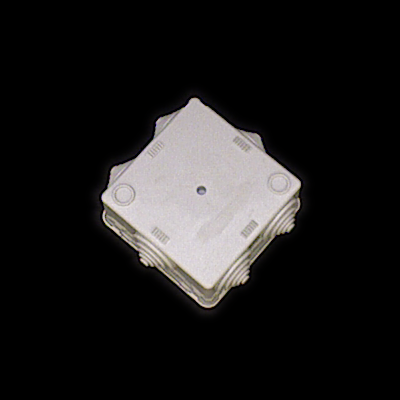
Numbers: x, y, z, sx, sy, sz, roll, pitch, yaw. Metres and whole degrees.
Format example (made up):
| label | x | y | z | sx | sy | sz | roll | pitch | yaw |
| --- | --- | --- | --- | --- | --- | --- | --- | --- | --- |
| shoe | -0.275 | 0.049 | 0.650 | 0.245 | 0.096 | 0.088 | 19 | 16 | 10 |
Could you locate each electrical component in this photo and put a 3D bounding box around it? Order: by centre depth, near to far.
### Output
| label | x | y | z | sx | sy | sz | roll | pitch | yaw |
| --- | --- | --- | --- | --- | --- | --- | --- | --- | --- |
| electrical component | 0.000 | 0.000 | 0.632 | 0.100 | 0.100 | 0.048 | 40 | -13 | 11 |
